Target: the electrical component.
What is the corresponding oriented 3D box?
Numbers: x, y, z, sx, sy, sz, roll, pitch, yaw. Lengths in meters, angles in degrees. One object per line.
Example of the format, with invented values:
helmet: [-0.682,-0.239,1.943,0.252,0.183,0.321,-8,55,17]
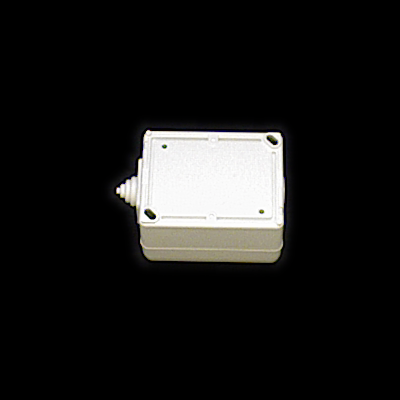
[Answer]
electrical component: [0.000,0.000,0.625,0.096,0.062,0.061,1,-27,0]
